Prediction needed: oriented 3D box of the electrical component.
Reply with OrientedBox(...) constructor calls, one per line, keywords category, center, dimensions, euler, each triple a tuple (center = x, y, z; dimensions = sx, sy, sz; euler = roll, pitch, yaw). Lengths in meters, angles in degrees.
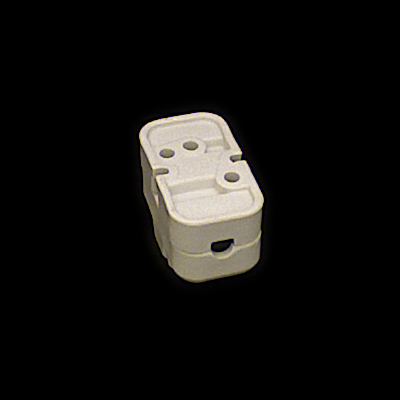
OrientedBox(category="electrical component", center=(0.000, 0.000, 0.636), dimensions=(0.054, 0.060, 0.094), euler=(-11, 45, -13))
